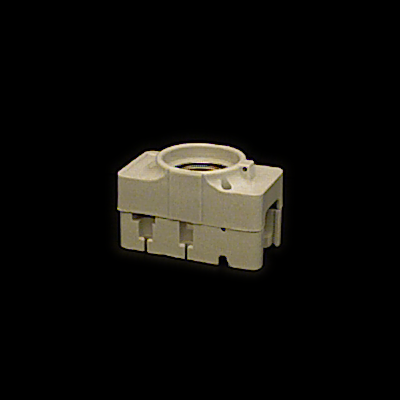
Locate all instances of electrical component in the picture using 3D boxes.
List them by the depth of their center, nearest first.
[{"bbox_3d":[0.000,0.000,0.646,0.089,0.056,0.050,8,23,18],"label":"electrical component"}]
